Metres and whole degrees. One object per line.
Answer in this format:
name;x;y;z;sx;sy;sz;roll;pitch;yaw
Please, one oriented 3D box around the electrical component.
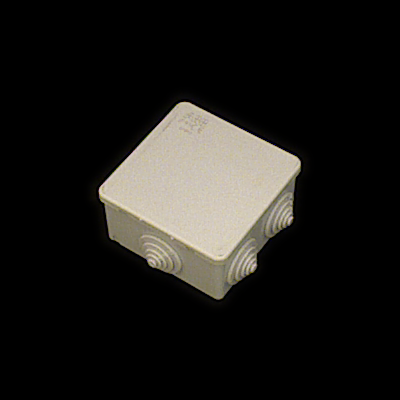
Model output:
electrical component;0.000;0.000;0.641;0.099;0.100;0.049;29;-32;19
